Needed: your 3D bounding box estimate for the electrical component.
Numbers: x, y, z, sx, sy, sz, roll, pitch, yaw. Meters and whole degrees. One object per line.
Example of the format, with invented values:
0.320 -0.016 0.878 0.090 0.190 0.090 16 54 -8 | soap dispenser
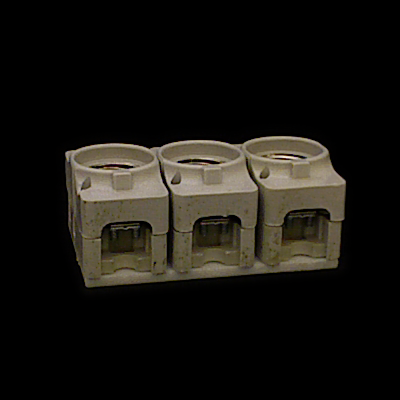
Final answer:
0.000 0.000 0.644 0.150 0.063 0.088 -4 22 -13 | electrical component
